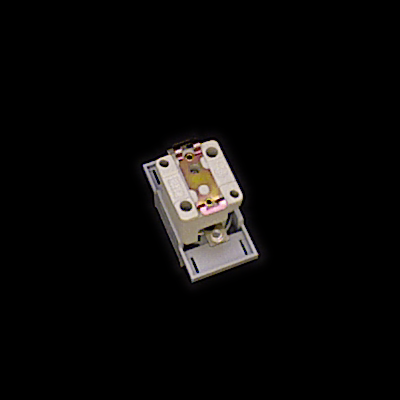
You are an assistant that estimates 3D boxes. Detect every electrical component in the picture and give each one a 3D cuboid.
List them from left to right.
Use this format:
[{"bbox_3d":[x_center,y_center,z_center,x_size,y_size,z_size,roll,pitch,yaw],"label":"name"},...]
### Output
[{"bbox_3d":[0.000,0.000,0.625,0.042,0.081,0.063,-20,-25,-10],"label":"electrical component"}]
